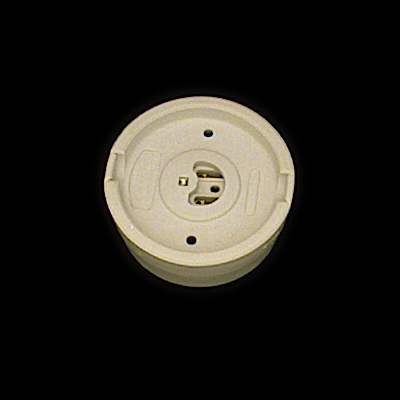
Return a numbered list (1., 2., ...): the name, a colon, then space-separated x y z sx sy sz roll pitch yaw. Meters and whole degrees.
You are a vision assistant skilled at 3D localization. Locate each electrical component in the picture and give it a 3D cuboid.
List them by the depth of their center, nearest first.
1. electrical component: 0.000 0.000 0.633 0.108 0.108 0.060 0 -26 -1
